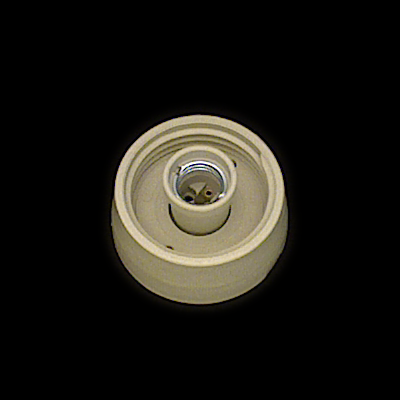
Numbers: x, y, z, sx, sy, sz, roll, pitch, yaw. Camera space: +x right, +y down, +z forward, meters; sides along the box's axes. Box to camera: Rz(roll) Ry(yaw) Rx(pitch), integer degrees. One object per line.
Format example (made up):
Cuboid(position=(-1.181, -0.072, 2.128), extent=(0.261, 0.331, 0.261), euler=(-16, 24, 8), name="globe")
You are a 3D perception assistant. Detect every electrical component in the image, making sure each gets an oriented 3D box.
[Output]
Cuboid(position=(0.000, 0.000, 0.633), extent=(0.108, 0.108, 0.060), euler=(0, -27, 0), name="electrical component")
